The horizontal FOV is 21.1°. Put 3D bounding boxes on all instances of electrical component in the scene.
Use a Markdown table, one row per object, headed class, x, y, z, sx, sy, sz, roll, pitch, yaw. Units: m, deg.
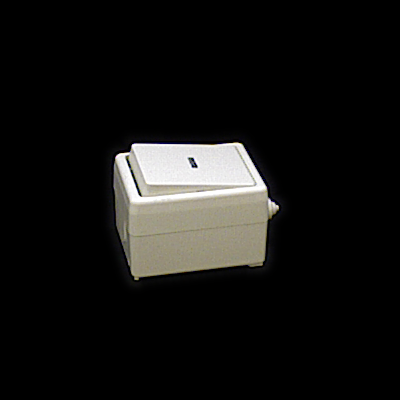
| class | x | y | z | sx | sy | sz | roll | pitch | yaw |
| --- | --- | --- | --- | --- | --- | --- | --- | --- | --- |
| electrical component | 0.000 | 0.000 | 0.634 | 0.096 | 0.061 | 0.061 | -6 | 32 | -12 |
